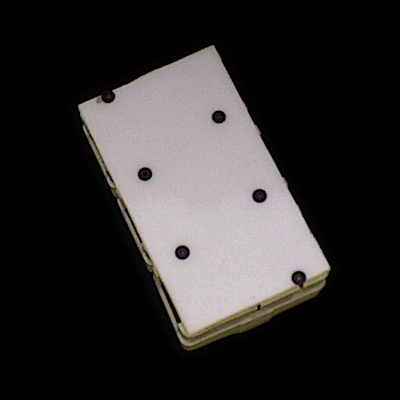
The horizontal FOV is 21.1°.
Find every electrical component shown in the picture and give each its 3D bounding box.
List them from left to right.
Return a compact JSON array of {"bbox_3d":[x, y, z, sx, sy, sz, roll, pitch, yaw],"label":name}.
[{"bbox_3d":[0.000,0.000,0.630,0.089,0.150,0.062,-24,-15,-7],"label":"electrical component"}]
